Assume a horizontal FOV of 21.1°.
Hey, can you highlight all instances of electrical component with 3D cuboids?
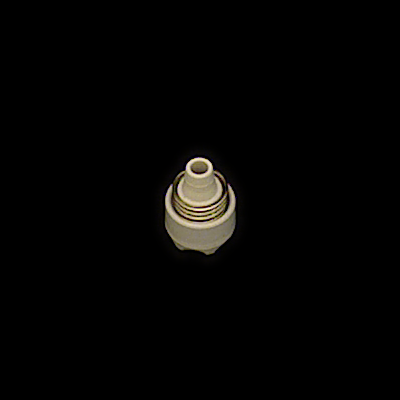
[{"bbox_3d":[0.000,0.000,0.636,0.043,0.043,0.062,0,-38,0],"label":"electrical component"}]
